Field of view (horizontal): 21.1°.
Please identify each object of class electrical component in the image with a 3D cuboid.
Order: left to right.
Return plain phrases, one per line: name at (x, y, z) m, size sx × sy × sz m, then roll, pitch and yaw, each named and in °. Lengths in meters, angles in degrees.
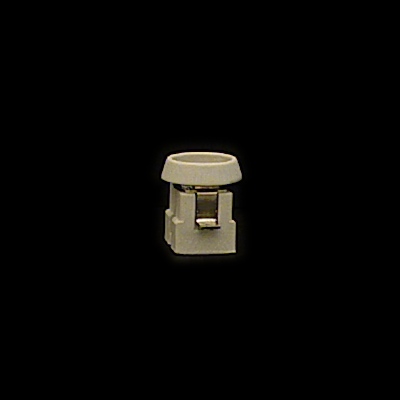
electrical component at (0.000, 0.000, 0.651) m, size 0.048 × 0.056 × 0.065 m, roll -3°, pitch 12°, yaw -12°
